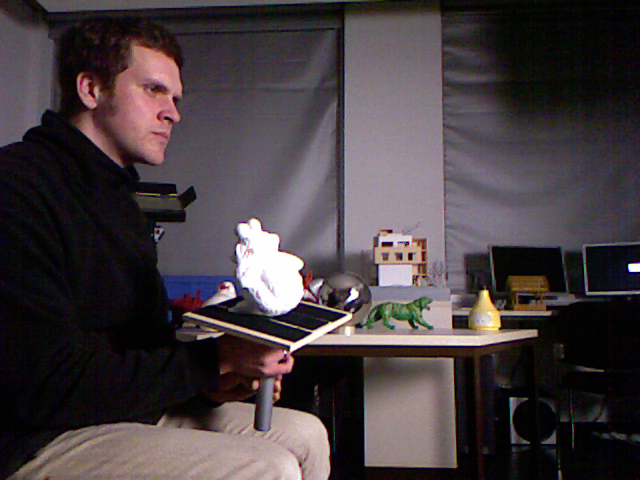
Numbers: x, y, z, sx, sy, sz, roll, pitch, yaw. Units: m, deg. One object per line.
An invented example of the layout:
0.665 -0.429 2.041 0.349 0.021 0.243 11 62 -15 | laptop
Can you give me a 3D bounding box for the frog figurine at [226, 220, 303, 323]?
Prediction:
-0.088 0.048 0.849 0.138 0.158 0.124 -6 19 -36 | frog figurine
